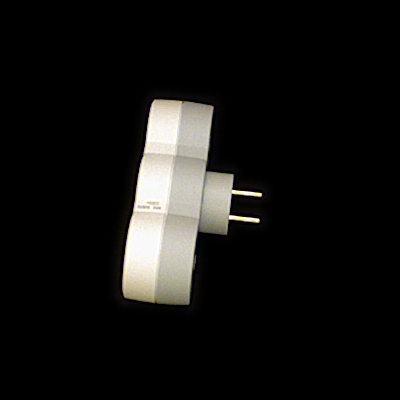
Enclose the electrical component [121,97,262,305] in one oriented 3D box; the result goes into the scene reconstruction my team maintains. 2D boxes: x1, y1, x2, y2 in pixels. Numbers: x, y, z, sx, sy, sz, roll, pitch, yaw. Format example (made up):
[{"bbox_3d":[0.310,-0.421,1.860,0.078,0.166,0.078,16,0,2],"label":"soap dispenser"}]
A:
[{"bbox_3d":[0.000,0.000,0.638,0.074,0.138,0.052,6,-37,2],"label":"electrical component"}]
